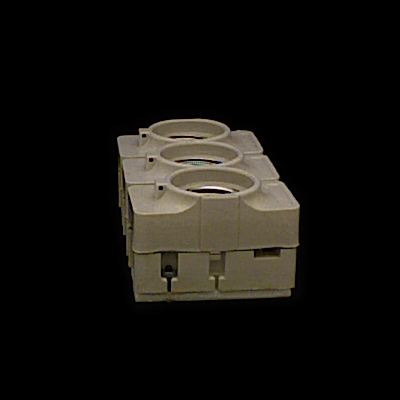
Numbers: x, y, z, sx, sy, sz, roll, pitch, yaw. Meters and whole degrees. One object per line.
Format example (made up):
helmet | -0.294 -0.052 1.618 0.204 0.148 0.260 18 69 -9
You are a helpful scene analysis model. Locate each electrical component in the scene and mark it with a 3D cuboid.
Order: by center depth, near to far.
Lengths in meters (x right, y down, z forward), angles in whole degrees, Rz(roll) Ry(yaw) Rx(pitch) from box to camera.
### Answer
electrical component | 0.000 0.000 0.644 0.090 0.063 0.147 -2 20 -8
